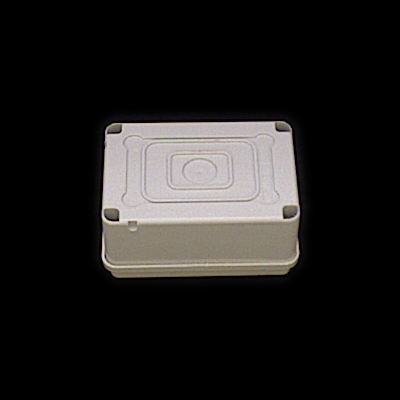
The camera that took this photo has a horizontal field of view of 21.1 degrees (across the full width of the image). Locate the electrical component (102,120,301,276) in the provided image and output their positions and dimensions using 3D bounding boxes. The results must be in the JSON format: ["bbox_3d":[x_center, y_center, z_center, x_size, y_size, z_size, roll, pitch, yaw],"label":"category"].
[{"bbox_3d":[0.000,0.000,0.630,0.113,0.078,0.057,0,-38,-2],"label":"electrical component"}]
